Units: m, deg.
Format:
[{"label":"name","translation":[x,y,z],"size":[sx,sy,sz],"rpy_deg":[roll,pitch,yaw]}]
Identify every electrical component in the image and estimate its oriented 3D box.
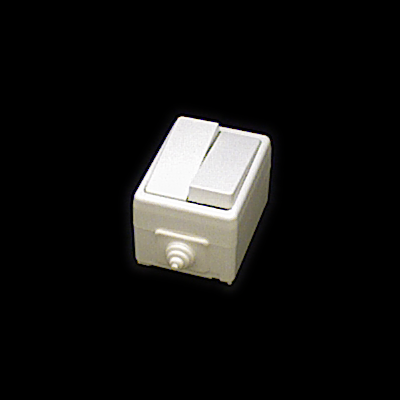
[{"label":"electrical component","translation":[0.000,0.000,0.629],"size":[0.061,0.061,0.096],"rpy_deg":[13,43,13]}]
